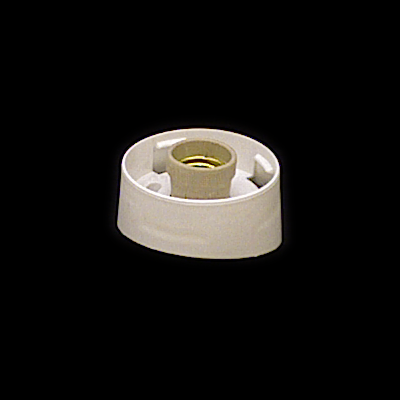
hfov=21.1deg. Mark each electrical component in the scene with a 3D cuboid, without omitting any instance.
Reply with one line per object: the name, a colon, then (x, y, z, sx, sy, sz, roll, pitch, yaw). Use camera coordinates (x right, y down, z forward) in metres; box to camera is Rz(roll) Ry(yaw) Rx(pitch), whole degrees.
electrical component: (0.000, 0.000, 0.633, 0.099, 0.065, 0.097, 1, 31, 0)
